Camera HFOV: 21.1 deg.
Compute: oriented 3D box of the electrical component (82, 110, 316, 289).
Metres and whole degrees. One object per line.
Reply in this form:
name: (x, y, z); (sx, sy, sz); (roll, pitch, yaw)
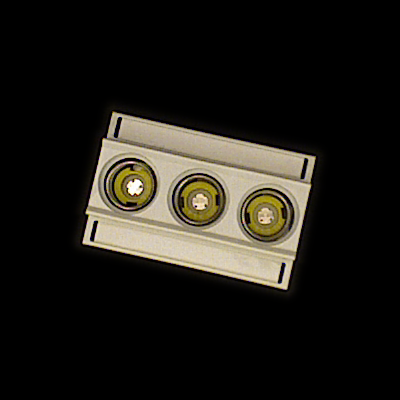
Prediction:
electrical component: (0.000, 0.000, 0.637); (0.121, 0.079, 0.063); (13, -4, 2)
